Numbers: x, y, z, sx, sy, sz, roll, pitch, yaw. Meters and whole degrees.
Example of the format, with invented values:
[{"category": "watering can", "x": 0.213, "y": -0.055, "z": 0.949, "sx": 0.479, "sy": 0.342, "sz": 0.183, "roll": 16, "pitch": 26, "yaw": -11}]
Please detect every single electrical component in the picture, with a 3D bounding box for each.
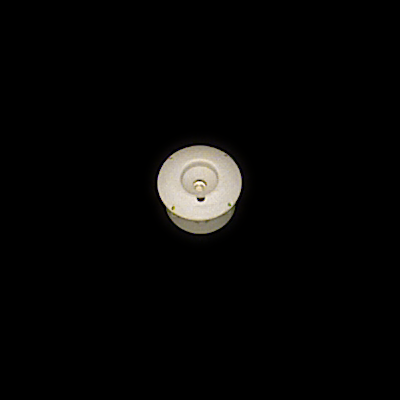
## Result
[{"category": "electrical component", "x": 0.000, "y": 0.000, "z": 0.633, "sx": 0.048, "sy": 0.048, "sz": 0.062, "roll": 0, "pitch": -26, "yaw": 0}]
